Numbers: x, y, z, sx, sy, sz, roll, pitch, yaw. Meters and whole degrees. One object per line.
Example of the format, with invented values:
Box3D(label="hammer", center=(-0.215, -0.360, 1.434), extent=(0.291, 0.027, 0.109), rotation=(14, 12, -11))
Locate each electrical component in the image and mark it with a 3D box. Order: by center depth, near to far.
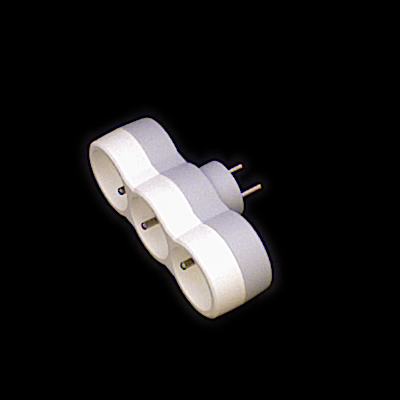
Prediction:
Box3D(label="electrical component", center=(0.000, 0.000, 0.633), extent=(0.074, 0.137, 0.052), rotation=(-28, -33, -22))
